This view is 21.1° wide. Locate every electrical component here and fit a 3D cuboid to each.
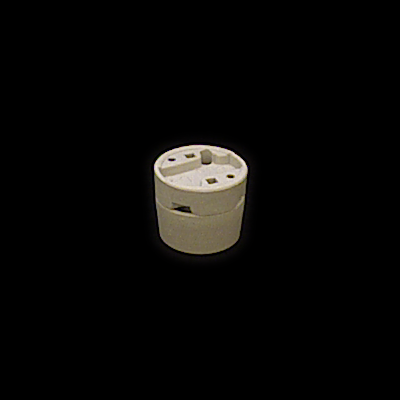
[{"bbox_3d":[0.000,0.000,0.640,0.055,0.047,0.055,1,32,0],"label":"electrical component"}]
